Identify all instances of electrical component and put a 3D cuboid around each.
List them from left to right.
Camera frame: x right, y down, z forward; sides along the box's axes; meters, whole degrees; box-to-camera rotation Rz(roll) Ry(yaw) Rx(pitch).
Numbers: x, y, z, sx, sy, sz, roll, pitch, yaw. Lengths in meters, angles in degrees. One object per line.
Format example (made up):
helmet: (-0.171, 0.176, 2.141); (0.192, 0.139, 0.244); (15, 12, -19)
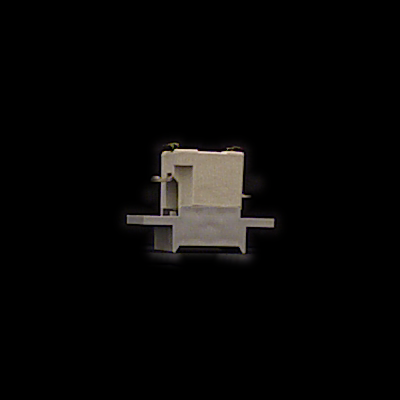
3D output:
electrical component: (0.000, 0.000, 0.650); (0.081, 0.064, 0.042); (1, 1, -19)
